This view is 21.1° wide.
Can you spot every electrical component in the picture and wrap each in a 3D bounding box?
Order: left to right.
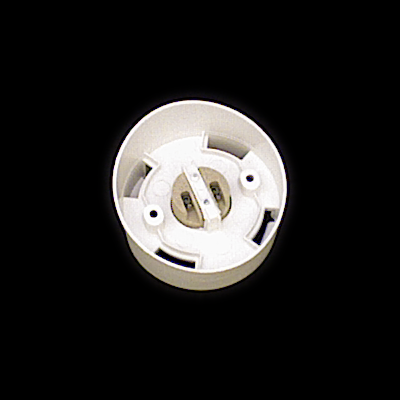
[{"bbox_3d":[0.000,0.000,0.624,0.099,0.099,0.064,0,-28,1],"label":"electrical component"}]
